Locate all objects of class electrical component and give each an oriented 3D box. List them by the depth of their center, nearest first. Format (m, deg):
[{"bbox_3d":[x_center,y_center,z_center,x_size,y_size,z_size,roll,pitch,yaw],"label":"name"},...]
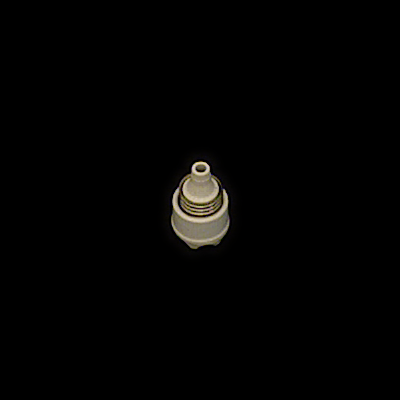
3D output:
[{"bbox_3d":[0.000,0.000,0.639,0.035,0.035,0.062,0,-38,-1],"label":"electrical component"}]
